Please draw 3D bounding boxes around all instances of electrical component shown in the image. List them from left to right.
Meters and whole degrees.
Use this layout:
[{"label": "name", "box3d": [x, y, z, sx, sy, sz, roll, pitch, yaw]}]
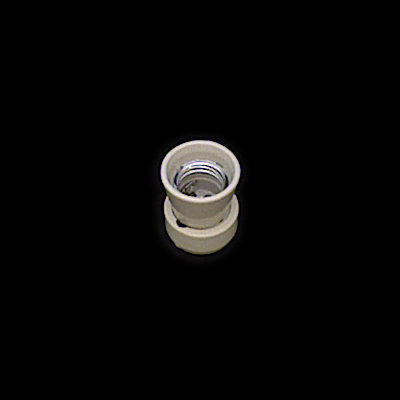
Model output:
[{"label": "electrical component", "box3d": [0.000, 0.000, 0.629, 0.045, 0.044, 0.055, 0, -38, 0]}]
